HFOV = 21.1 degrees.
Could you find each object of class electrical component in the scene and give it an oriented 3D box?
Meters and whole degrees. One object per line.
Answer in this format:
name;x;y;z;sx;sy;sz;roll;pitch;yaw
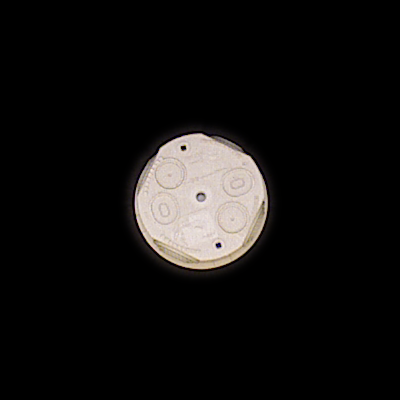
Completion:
electrical component;0.000;0.000;0.633;0.080;0.080;0.050;0;-6;0
